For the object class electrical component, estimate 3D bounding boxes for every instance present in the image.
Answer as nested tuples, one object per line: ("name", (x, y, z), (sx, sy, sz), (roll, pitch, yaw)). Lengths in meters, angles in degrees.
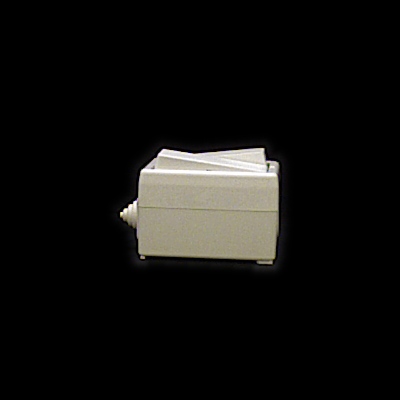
("electrical component", (0.000, 0.000, 0.644), (0.096, 0.061, 0.061), (2, 11, 5))
